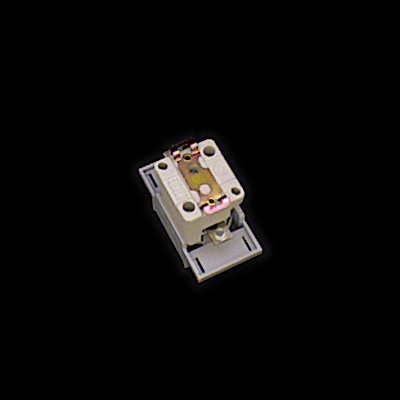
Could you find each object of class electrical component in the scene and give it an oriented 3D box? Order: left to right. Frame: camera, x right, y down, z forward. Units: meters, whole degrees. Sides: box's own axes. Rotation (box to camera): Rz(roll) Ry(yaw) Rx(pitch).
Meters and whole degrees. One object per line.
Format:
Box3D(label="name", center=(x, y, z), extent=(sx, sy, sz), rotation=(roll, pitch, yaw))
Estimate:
Box3D(label="electrical component", center=(0.000, 0.000, 0.625), extent=(0.042, 0.081, 0.063), rotation=(-25, -24, -13))
